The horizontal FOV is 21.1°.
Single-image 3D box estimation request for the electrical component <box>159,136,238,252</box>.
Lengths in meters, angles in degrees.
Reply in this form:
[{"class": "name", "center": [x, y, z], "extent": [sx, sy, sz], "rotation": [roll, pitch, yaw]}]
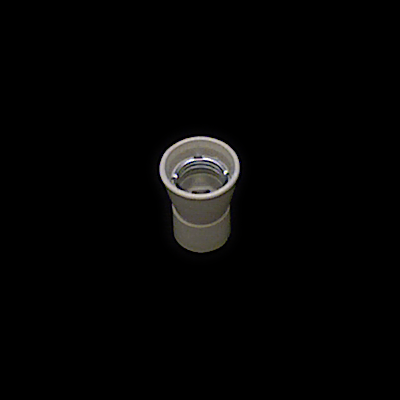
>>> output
[{"class": "electrical component", "center": [0.000, 0.000, 0.626], "extent": [0.044, 0.044, 0.065], "rotation": [0, -37, 1]}]
